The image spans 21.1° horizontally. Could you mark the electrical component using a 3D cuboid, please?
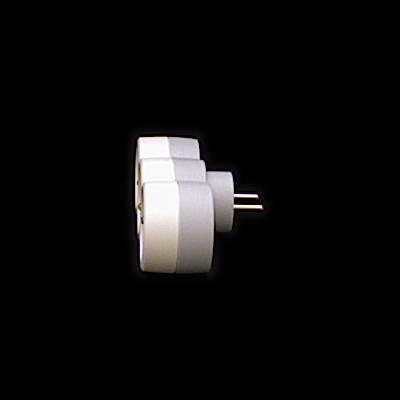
[{"bbox_3d":[0.000,0.000,0.643,0.074,0.053,0.136,1,20,-6],"label":"electrical component"}]
